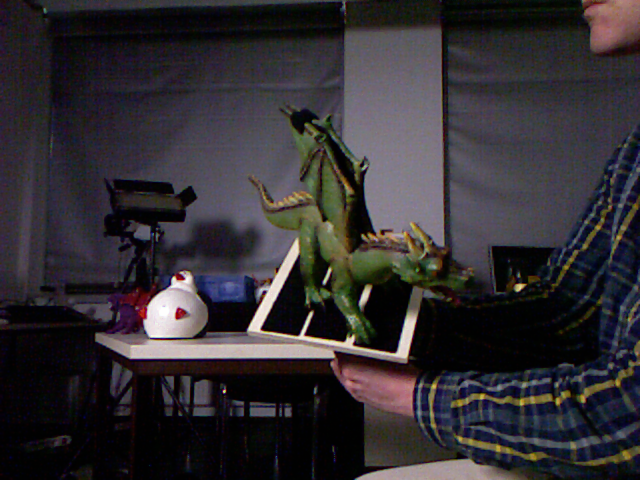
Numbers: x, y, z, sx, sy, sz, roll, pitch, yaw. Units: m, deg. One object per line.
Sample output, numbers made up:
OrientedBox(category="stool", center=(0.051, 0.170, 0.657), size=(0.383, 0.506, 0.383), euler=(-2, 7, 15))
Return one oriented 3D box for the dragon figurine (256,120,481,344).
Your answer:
OrientedBox(category="dragon figurine", center=(0.008, -0.037, 0.608), size=(0.124, 0.237, 0.417), euler=(-32, 48, -24))
